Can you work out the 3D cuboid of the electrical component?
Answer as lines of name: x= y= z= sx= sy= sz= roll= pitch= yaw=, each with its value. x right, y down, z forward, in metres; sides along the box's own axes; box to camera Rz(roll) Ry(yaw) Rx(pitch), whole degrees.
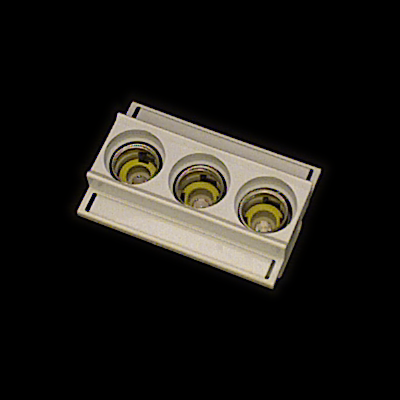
electrical component: x=0.000 y=0.000 z=0.637 sx=0.121 sy=0.079 sz=0.063 roll=21 pitch=-23 yaw=10
